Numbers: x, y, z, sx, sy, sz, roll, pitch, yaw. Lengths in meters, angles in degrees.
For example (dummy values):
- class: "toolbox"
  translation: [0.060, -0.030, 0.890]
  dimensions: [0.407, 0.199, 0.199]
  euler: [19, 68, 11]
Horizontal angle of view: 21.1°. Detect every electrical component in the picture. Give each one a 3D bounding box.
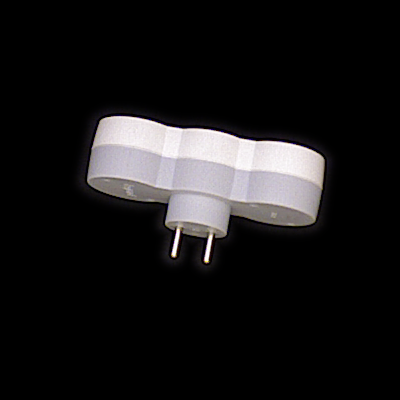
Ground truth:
- class: "electrical component"
  translation: [0.000, 0.000, 0.630]
  dimensions: [0.138, 0.074, 0.052]
  euler: [10, -15, 2]
